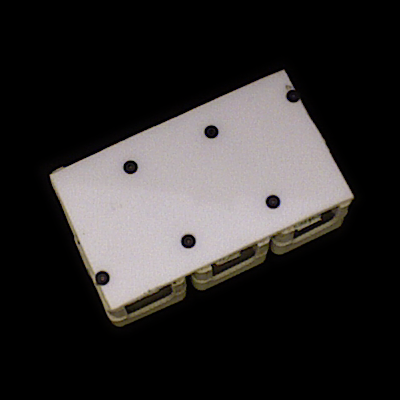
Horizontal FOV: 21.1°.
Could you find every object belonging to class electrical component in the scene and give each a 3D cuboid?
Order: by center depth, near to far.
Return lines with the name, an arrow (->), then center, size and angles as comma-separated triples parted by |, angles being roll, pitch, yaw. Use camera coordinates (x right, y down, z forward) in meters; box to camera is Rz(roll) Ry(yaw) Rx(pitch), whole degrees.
electrical component -> 0.000, 0.000, 0.629 | 0.150, 0.089, 0.062 | -24, -16, -7
